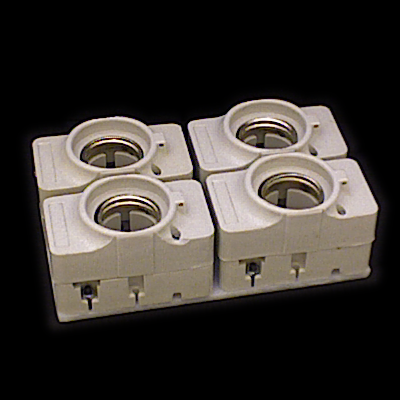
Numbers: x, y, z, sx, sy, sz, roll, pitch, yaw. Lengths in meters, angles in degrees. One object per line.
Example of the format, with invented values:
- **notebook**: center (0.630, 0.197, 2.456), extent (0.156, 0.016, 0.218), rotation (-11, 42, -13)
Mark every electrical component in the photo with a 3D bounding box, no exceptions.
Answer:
- **electrical component**: center (0.000, 0.000, 0.631), extent (0.186, 0.061, 0.104), rotation (-7, 42, -10)
